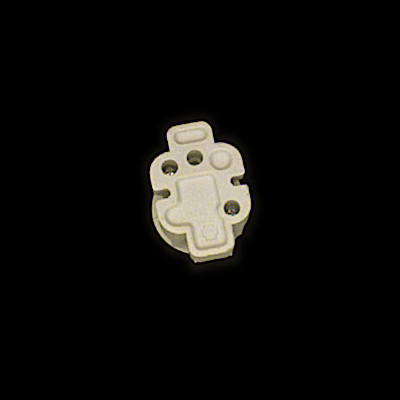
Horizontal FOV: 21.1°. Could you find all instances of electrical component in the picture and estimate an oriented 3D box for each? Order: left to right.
[{"bbox_3d":[0.000,0.000,0.635,0.058,0.078,0.056,-11,-14,-4],"label":"electrical component"}]
